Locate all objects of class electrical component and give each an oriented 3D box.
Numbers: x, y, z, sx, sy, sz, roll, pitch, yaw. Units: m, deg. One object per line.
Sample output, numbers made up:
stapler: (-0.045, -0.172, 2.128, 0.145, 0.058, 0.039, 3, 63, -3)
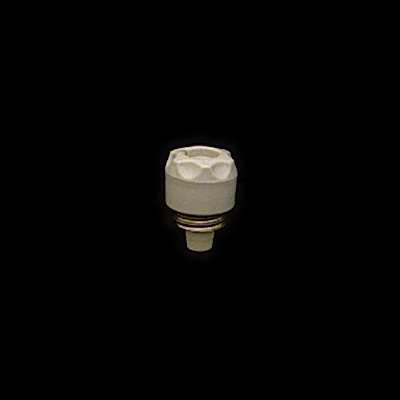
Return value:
electrical component: (0.000, 0.000, 0.646, 0.043, 0.063, 0.043, 2, 22, 0)
